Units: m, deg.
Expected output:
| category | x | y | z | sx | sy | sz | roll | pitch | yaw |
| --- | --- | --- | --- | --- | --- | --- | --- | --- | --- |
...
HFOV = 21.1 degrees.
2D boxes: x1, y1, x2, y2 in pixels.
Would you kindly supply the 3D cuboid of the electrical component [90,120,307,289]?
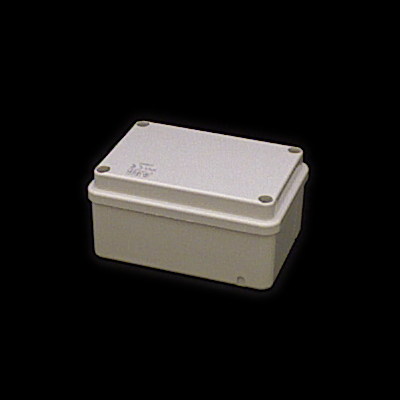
| category | x | y | z | sx | sy | sz | roll | pitch | yaw |
| --- | --- | --- | --- | --- | --- | --- | --- | --- | --- |
| electrical component | 0.000 | 0.000 | 0.632 | 0.113 | 0.058 | 0.077 | 11 | 33 | 15 |
